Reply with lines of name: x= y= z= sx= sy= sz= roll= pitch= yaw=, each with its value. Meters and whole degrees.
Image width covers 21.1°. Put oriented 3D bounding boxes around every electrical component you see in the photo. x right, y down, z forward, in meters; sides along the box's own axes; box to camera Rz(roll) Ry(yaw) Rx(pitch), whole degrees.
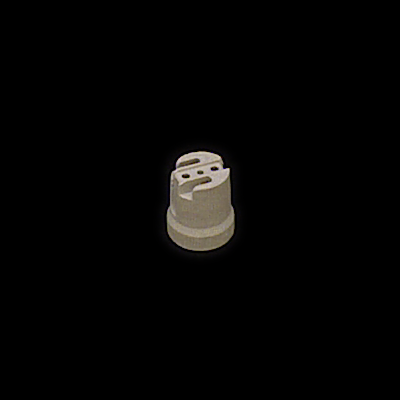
electrical component: x=0.000 y=0.000 z=0.636 sx=0.040 sy=0.046 sz=0.040 roll=1 pitch=42 yaw=0
